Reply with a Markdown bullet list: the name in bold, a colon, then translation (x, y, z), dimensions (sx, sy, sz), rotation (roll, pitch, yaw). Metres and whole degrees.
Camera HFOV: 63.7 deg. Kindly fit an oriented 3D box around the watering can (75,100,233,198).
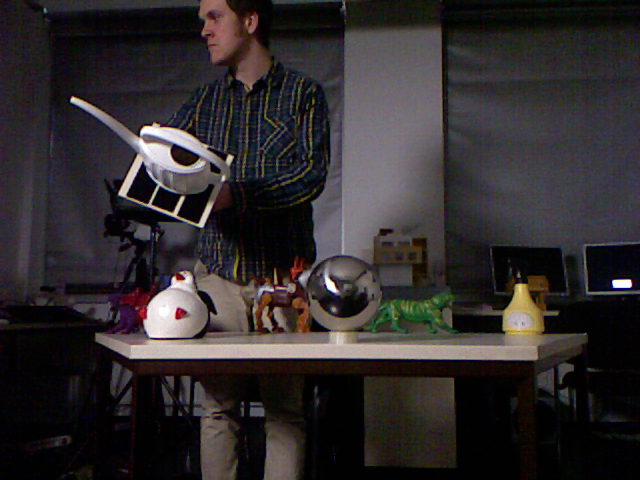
- **watering can**: translation (-0.363, -0.197, 1.159), dimensions (0.347, 0.106, 0.221), rotation (23, -22, -10)
